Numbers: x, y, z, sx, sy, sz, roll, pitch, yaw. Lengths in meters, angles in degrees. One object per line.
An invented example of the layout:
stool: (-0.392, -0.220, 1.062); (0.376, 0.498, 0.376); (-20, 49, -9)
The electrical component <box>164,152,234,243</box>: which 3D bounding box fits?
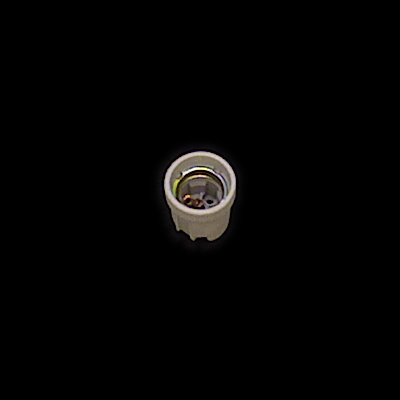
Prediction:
electrical component: (0.000, 0.000, 0.627); (0.040, 0.040, 0.046); (0, -27, 0)
